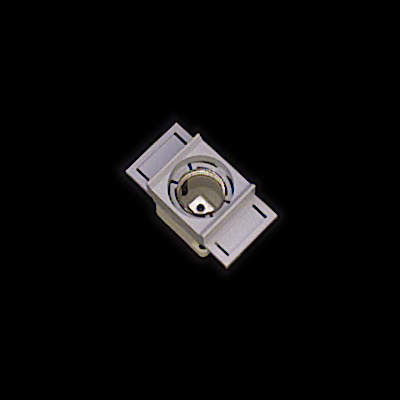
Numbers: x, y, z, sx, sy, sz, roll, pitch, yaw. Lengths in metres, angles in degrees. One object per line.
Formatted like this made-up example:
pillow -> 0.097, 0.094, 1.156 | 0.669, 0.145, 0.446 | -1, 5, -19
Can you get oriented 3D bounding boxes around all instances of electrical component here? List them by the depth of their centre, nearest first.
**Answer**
electrical component -> 0.000, 0.000, 0.623 | 0.081, 0.042, 0.063 | 44, -13, 12
